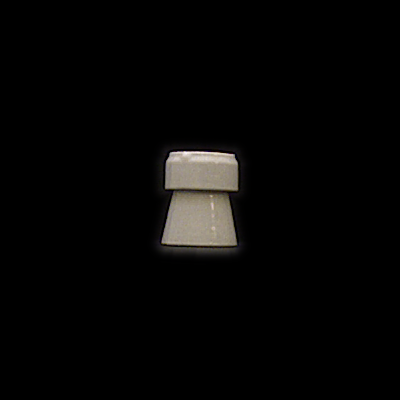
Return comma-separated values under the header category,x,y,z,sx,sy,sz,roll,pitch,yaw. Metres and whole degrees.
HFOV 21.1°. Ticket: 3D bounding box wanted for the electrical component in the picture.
category,x,y,z,sx,sy,sz,roll,pitch,yaw
electrical component,0.000,0.000,0.649,0.045,0.055,0.044,1,2,0
